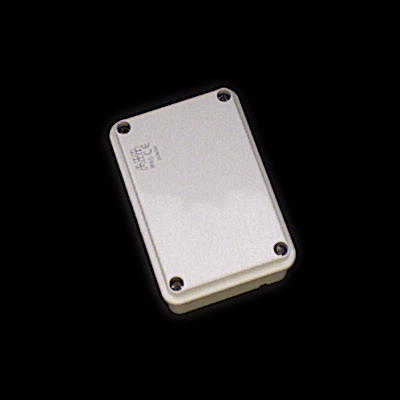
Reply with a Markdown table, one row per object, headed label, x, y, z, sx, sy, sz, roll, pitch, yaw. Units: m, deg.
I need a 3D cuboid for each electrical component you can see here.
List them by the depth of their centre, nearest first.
| label | x | y | z | sx | sy | sz | roll | pitch | yaw |
| --- | --- | --- | --- | --- | --- | --- | --- | --- | --- |
| electrical component | 0.000 | 0.000 | 0.626 | 0.078 | 0.113 | 0.057 | -18 | -16 | -5 |
